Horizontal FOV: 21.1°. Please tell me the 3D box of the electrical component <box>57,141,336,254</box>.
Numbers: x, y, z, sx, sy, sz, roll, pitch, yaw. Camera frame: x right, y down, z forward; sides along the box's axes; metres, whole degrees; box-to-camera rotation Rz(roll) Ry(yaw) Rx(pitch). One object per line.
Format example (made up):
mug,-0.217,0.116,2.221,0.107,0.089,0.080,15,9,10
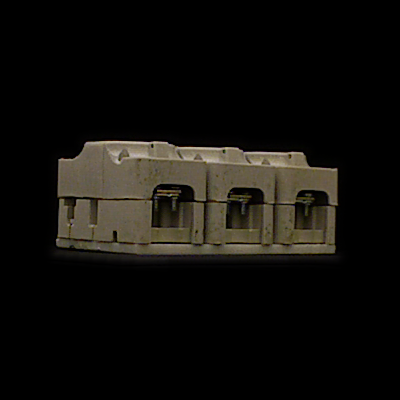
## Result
electrical component,0.000,0.000,0.656,0.150,0.062,0.089,1,0,-38
